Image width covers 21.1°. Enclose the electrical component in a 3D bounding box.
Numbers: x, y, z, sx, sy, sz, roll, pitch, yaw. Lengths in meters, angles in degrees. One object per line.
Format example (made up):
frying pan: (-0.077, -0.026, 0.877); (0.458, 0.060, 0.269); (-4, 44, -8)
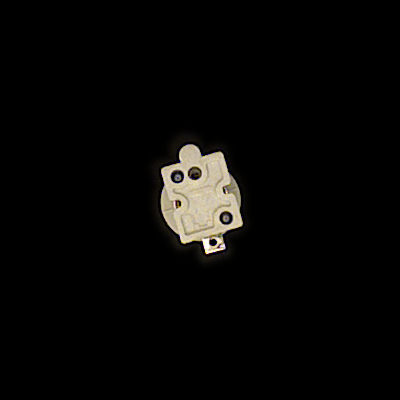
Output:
electrical component: (0.000, 0.000, 0.639); (0.048, 0.066, 0.055); (-16, -5, -2)
